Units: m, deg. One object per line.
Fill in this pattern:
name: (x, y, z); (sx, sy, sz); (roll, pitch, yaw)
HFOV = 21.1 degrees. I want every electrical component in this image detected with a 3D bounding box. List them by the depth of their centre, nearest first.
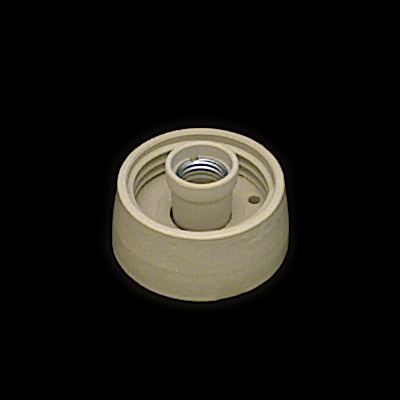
electrical component: (0.000, 0.000, 0.637); (0.108, 0.061, 0.107); (1, 42, 0)
